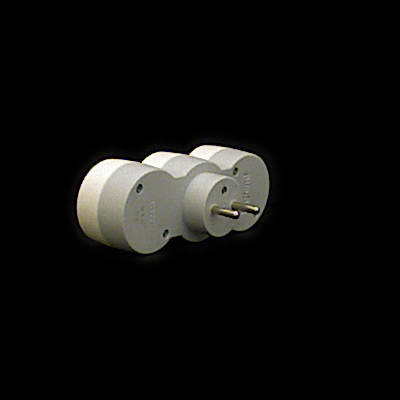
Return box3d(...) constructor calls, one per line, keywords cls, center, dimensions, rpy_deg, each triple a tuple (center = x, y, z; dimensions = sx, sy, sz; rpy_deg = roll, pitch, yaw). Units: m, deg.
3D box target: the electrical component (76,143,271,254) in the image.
box3d(cls="electrical component", center=(0.000, 0.000, 0.649), dimensions=(0.073, 0.052, 0.139), rpy_deg=(13, 16, 39))
